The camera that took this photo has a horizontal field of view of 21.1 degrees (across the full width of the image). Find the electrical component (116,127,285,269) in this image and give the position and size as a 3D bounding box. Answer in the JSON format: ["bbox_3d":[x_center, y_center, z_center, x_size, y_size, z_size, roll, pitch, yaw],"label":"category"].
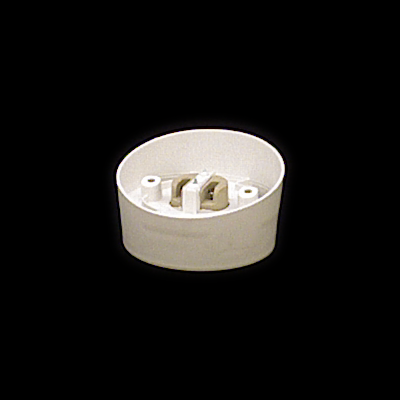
[{"bbox_3d":[0.000,0.000,0.639,0.099,0.065,0.097,1,20,0],"label":"electrical component"}]
